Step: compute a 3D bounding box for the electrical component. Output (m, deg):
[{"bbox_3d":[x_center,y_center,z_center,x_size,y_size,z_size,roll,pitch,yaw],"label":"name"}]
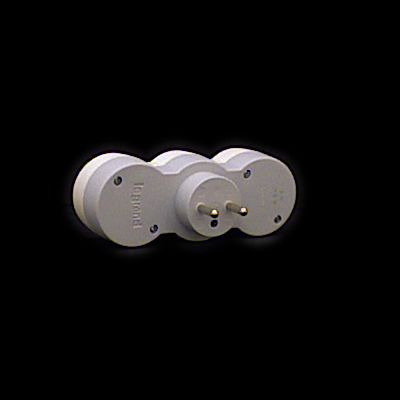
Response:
[{"bbox_3d":[0.000,0.000,0.647,0.138,0.052,0.073,-3,13,-28],"label":"electrical component"}]
